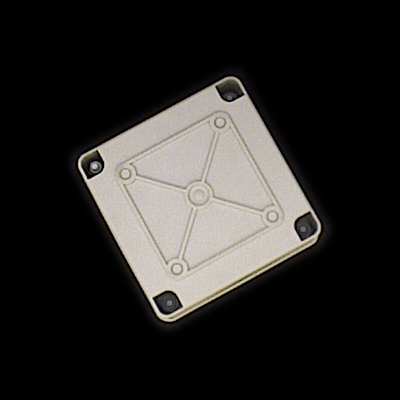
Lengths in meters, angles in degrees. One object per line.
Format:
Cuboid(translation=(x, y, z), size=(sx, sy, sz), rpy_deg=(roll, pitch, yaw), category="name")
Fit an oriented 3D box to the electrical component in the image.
Cuboid(translation=(0.000, 0.000, 0.628), size=(0.109, 0.109, 0.056), rpy_deg=(-29, -6, -3), category="electrical component")
